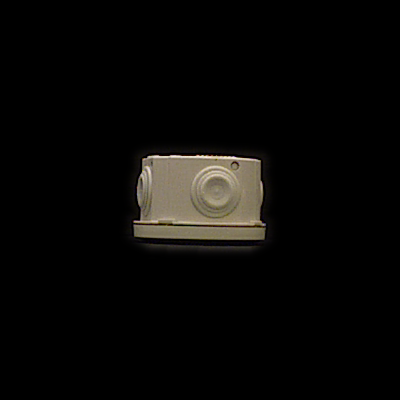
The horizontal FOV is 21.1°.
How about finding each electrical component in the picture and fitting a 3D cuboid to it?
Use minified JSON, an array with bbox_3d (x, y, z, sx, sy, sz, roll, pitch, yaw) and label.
[{"bbox_3d":[0.000,0.000,0.651,0.080,0.051,0.080,1,0,0],"label":"electrical component"}]
